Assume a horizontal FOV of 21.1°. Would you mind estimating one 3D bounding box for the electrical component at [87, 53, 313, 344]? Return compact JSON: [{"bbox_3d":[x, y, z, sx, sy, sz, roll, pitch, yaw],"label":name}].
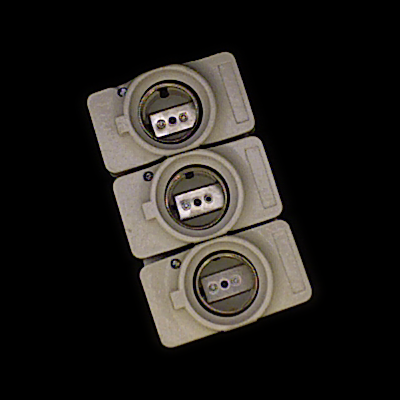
[{"bbox_3d":[0.000,0.000,0.632,0.089,0.150,0.061,-18,-6,-1],"label":"electrical component"}]
